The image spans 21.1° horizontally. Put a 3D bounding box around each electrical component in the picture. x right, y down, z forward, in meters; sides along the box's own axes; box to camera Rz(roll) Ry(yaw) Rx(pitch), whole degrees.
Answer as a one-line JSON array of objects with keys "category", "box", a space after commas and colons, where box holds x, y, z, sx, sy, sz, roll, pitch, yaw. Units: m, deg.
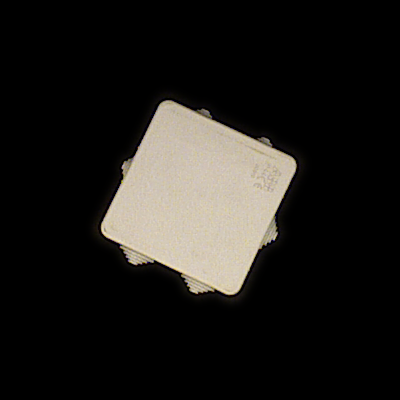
[{"category": "electrical component", "box": [0.000, 0.000, 0.642, 0.100, 0.100, 0.048, 25, -6, 3]}]
